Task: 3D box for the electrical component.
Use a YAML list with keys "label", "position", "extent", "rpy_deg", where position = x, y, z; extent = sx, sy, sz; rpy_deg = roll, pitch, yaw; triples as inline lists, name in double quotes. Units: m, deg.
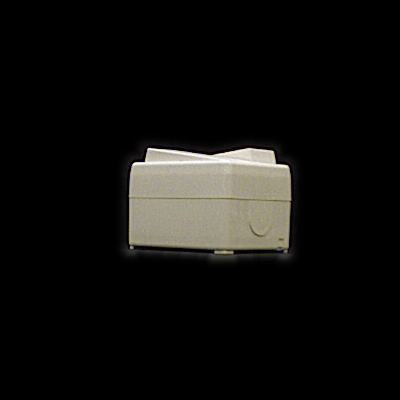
- label: "electrical component"
  position: [0.000, 0.000, 0.652]
  extent: [0.096, 0.061, 0.062]
  rpy_deg: [2, 0, 42]
